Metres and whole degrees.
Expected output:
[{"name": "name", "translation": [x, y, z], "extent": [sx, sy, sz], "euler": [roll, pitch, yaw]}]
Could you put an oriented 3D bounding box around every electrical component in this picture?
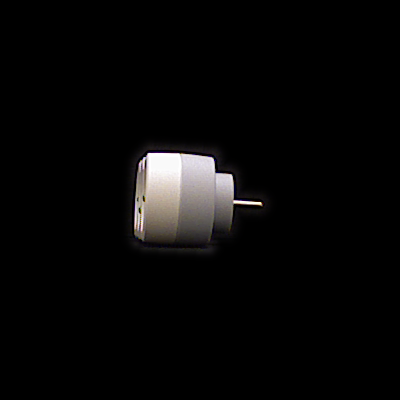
[{"name": "electrical component", "translation": [0.000, 0.000, 0.653], "extent": [0.074, 0.052, 0.138], "euler": [3, -1, -6]}]
